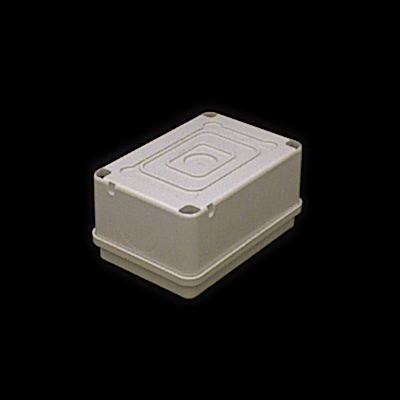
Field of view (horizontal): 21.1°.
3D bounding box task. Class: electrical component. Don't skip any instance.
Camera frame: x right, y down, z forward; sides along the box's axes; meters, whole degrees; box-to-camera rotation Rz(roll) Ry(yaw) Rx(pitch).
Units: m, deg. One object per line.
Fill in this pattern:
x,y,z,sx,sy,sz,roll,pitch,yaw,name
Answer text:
0.000,0.000,0.635,0.077,0.058,0.112,23,37,32,electrical component
